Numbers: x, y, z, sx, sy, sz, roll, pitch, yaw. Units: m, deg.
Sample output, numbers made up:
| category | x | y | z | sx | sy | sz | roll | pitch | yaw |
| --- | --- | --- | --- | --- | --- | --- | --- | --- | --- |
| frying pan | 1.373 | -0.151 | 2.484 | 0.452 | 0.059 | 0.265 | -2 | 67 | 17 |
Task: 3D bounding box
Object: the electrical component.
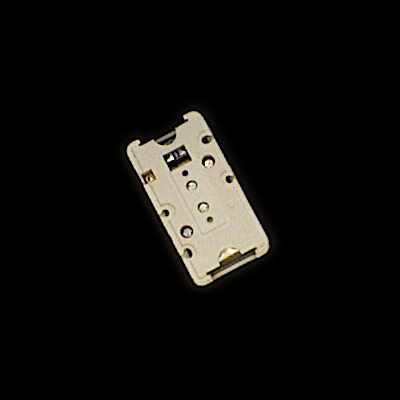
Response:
| category | x | y | z | sx | sy | sz | roll | pitch | yaw |
| --- | --- | --- | --- | --- | --- | --- | --- | --- | --- |
| electrical component | 0.000 | 0.000 | 0.637 | 0.050 | 0.089 | 0.055 | -28 | -6 | -2 |
